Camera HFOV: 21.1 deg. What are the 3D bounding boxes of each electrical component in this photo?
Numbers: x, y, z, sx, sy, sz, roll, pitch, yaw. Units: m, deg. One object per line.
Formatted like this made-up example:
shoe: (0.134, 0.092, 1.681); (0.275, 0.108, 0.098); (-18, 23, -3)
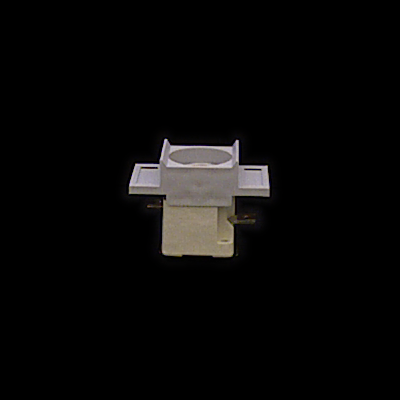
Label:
electrical component: (0.000, 0.000, 0.638); (0.081, 0.064, 0.041); (1, 20, 2)
